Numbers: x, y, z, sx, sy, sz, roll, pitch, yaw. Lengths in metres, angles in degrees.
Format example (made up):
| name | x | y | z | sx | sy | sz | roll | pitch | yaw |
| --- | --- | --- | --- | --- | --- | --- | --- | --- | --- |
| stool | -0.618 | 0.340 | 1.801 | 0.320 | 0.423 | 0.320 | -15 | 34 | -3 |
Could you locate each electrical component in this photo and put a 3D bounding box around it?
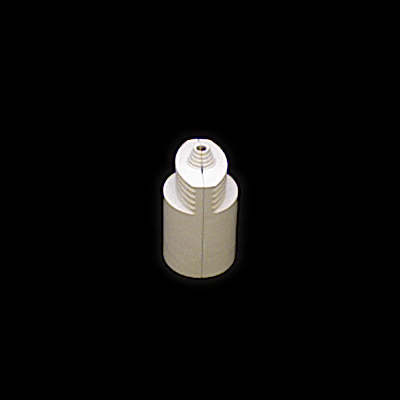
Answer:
| name | x | y | z | sx | sy | sz | roll | pitch | yaw |
| --- | --- | --- | --- | --- | --- | --- | --- | --- | --- |
| electrical component | 0.000 | 0.000 | 0.623 | 0.043 | 0.082 | 0.042 | 0 | 42 | 0 |
